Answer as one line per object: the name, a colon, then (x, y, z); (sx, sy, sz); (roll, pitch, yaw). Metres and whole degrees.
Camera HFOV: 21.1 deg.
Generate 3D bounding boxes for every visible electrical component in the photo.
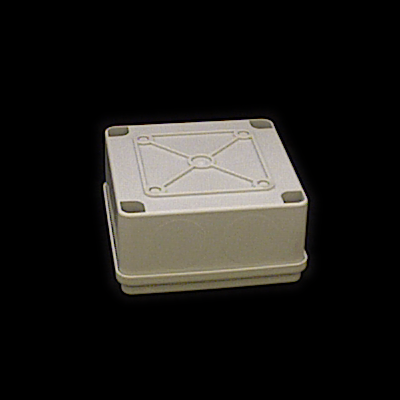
electrical component: (0.000, 0.000, 0.635); (0.109, 0.057, 0.107); (-4, 32, -8)
